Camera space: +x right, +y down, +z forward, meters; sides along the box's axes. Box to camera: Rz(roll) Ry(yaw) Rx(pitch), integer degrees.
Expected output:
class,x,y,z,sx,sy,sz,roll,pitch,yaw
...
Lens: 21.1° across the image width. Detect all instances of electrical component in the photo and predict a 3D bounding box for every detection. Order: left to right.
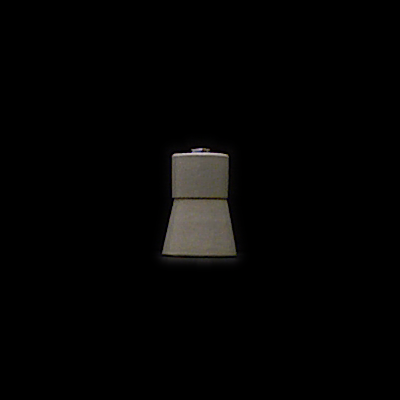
class,x,y,z,sx,sy,sz,roll,pitch,yaw
electrical component,0.000,0.000,0.650,0.044,0.065,0.044,0,2,0
